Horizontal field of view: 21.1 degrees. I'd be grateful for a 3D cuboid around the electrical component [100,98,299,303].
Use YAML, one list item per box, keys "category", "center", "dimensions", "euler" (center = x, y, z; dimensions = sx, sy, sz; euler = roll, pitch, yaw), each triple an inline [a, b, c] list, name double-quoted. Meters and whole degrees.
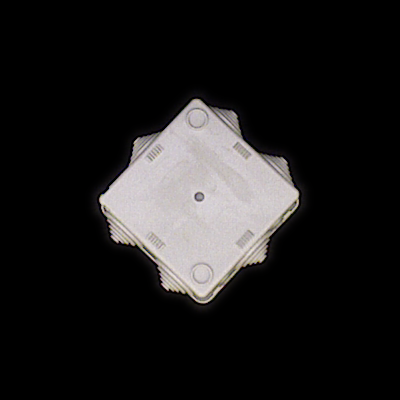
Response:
- category: "electrical component"
  center: [0.000, 0.000, 0.632]
  dimensions: [0.100, 0.100, 0.048]
  euler: [43, -5, 4]
